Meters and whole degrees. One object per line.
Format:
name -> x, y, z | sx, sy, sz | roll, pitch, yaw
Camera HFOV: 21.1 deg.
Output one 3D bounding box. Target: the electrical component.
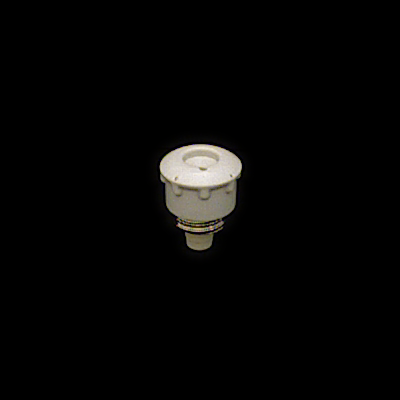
electrical component -> 0.000, 0.000, 0.641 | 0.048, 0.063, 0.047 | 1, 32, 0
